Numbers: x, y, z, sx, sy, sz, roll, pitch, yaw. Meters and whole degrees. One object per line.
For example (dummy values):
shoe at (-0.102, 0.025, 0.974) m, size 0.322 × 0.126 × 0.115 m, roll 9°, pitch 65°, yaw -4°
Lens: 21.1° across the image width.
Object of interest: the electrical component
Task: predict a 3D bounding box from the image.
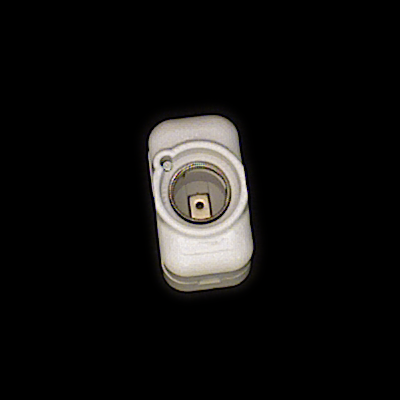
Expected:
electrical component at (0.000, 0.000, 0.634) m, size 0.054 × 0.095 × 0.059 m, roll -7°, pitch -16°, yaw -2°
